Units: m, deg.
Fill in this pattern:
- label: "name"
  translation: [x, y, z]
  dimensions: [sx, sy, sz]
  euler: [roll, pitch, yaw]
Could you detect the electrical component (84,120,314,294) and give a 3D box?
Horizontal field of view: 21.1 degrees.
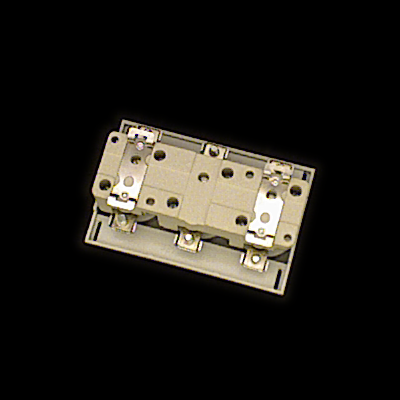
- label: "electrical component"
  translation: [0.000, 0.000, 0.633]
  dimensions: [0.121, 0.079, 0.062]
  euler: [14, -15, 5]
